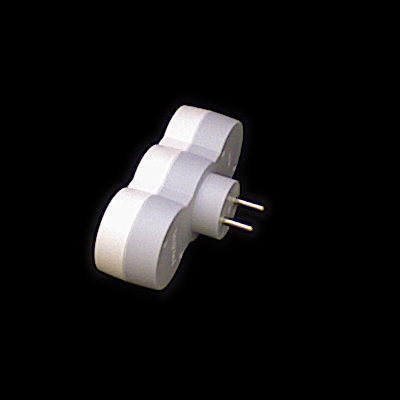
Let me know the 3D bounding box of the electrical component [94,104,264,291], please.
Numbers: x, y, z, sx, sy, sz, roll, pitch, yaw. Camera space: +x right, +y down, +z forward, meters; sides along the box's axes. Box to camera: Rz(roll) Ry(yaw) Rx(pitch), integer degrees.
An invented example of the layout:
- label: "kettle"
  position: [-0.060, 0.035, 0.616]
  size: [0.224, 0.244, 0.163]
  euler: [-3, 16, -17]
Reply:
- label: "electrical component"
  position: [0.000, 0.000, 0.636]
  size: [0.073, 0.052, 0.137]
  euler: [17, 44, 15]
